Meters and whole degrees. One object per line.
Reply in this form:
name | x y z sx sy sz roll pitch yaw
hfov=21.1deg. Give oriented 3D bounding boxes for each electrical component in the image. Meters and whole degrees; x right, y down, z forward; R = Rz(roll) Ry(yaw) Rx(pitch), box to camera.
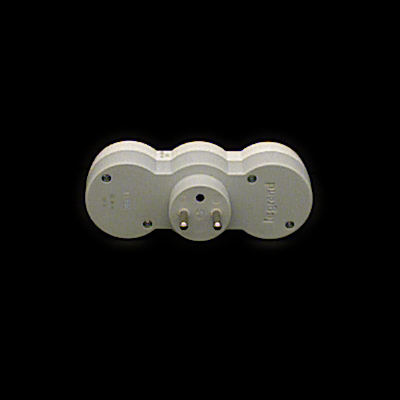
electrical component | 0.000 0.000 0.644 0.138 0.053 0.073 0 23 -3
